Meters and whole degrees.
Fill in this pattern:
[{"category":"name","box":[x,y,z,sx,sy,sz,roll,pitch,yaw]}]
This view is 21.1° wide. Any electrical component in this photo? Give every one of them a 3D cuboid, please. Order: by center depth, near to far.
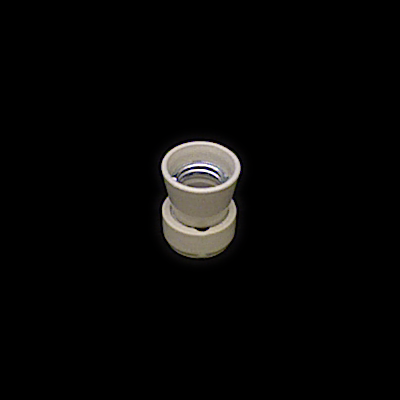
[{"category":"electrical component","box":[0.000,0.000,0.633,0.045,0.056,0.044,1,42,-1]}]
